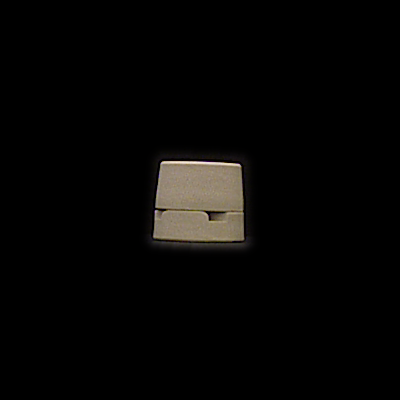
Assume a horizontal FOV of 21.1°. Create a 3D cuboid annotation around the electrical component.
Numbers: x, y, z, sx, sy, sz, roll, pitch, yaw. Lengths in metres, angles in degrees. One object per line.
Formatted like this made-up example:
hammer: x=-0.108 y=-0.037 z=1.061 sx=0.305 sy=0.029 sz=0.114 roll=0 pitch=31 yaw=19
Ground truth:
electrical component: x=0.000 y=0.000 z=0.649 sx=0.055 sy=0.047 sz=0.055 roll=2 pitch=1 yaw=0
